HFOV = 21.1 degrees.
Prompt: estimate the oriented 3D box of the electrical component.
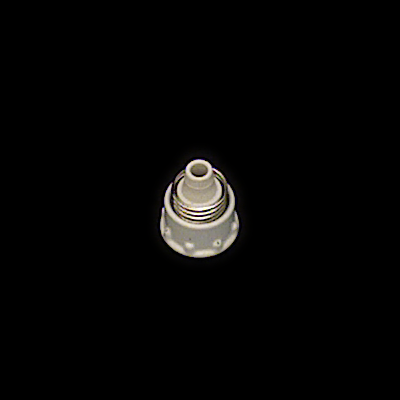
[{"bbox_3d":[0.000,0.000,0.634,0.048,0.048,0.062,0,-36,0],"label":"electrical component"}]
